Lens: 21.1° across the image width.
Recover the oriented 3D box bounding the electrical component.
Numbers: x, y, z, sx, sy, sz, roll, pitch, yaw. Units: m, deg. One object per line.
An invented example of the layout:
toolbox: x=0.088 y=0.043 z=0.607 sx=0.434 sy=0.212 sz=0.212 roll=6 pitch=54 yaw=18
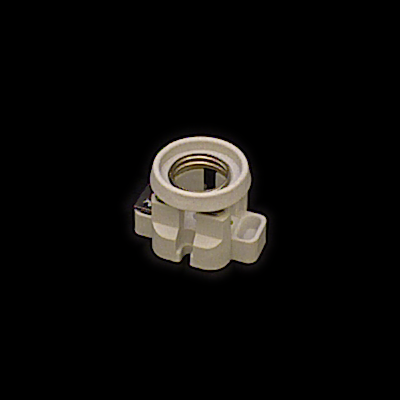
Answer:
electrical component: x=0.000 y=0.000 z=0.631 sx=0.078 sy=0.057 sz=0.057 roll=14 pitch=44 yaw=14
